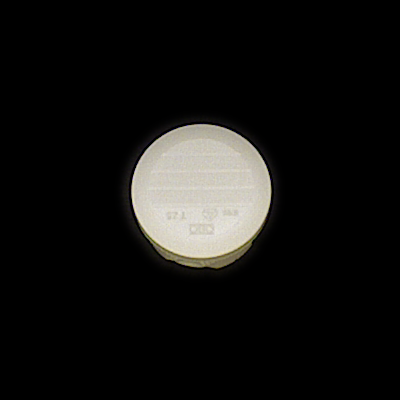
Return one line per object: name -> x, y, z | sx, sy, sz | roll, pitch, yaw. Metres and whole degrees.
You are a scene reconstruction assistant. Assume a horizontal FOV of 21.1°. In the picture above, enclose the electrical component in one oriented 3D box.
electrical component -> 0.000, 0.000, 0.629 | 0.080, 0.080, 0.050 | 0, -17, 0
